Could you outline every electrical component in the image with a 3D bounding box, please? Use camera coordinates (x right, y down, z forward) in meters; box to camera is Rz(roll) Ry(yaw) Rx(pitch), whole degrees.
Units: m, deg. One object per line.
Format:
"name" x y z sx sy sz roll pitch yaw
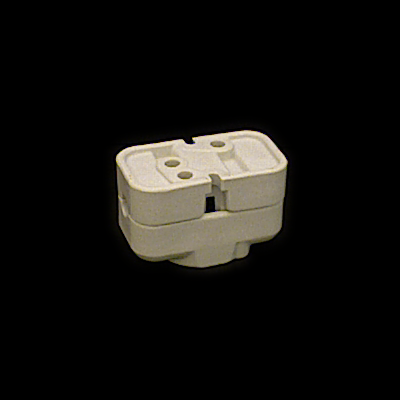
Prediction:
"electrical component" 0.000 0.000 0.640 0.095 0.060 0.053 -9 34 -17
